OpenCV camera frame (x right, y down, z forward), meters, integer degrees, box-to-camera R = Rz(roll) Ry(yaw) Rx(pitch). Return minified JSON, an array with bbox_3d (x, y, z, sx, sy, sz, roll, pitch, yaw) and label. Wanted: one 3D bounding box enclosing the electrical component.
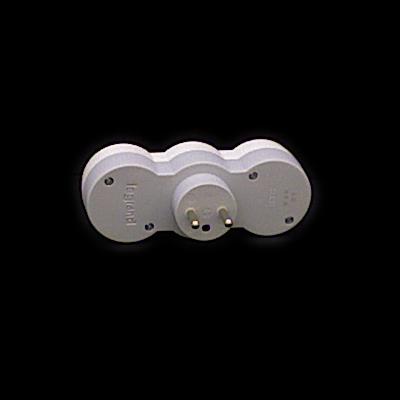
[{"bbox_3d":[0.000,0.000,0.642,0.138,0.053,0.073,-2,23,-11],"label":"electrical component"}]
